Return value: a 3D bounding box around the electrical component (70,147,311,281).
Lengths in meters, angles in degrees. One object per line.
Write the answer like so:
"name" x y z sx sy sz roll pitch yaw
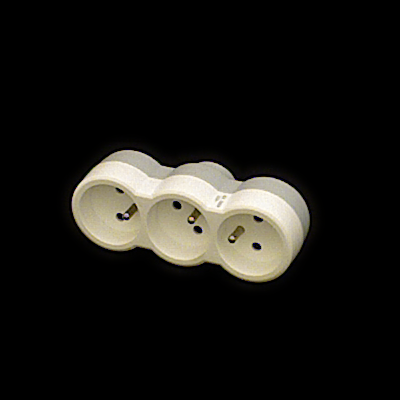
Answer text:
"electrical component" 0.000 0.000 0.646 0.137 0.053 0.073 12 32 17
